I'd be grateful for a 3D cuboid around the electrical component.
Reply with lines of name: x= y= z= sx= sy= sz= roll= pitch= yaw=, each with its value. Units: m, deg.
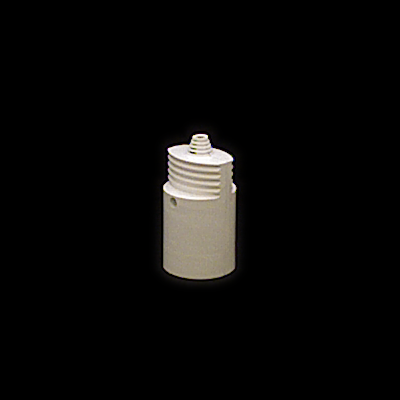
electrical component: x=0.000 y=0.000 z=0.635 sx=0.043 sy=0.082 sz=0.042 roll=1 pitch=21 yaw=0
